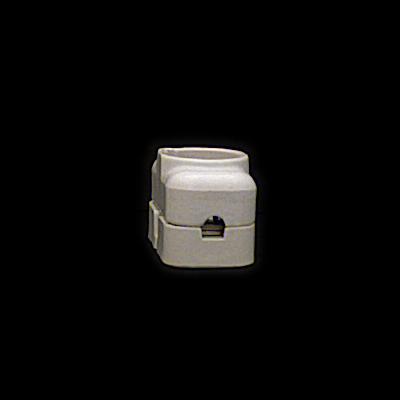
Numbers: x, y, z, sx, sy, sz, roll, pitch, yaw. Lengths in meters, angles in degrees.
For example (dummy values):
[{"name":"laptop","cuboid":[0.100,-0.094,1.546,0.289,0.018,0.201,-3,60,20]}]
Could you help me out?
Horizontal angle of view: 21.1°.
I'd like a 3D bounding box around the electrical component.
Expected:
[{"name":"electrical component","cuboid":[0.000,0.000,0.650,0.054,0.060,0.094,-1,11,-10]}]
